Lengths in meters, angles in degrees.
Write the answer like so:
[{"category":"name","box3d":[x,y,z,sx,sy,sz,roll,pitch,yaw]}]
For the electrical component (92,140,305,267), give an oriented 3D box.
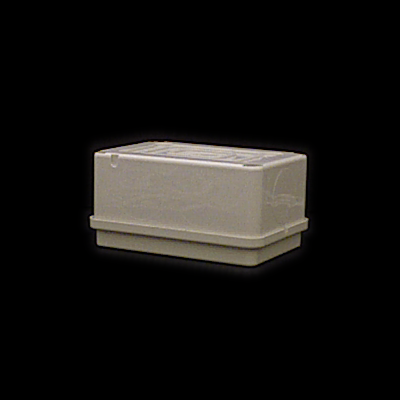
[{"category":"electrical component","box3d":[0.000,0.000,0.644,0.113,0.057,0.078,7,12,27]}]
